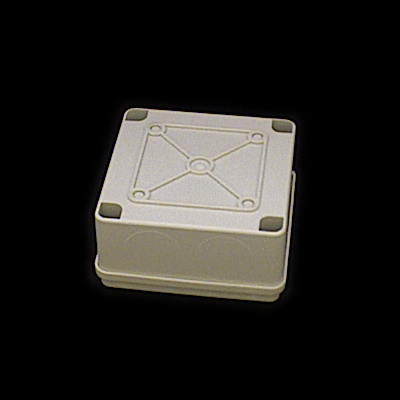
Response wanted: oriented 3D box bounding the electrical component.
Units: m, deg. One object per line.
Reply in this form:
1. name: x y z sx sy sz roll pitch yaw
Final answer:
1. electrical component: 0.000 0.000 0.632 0.108 0.057 0.107 5 41 5
